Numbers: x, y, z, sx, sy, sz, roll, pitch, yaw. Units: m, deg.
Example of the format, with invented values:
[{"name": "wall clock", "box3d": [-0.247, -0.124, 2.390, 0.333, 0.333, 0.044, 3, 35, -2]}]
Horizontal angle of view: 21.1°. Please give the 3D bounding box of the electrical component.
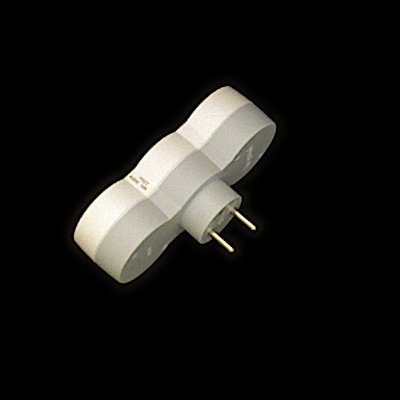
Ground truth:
[{"name": "electrical component", "box3d": [0.000, 0.000, 0.636, 0.073, 0.139, 0.052, 41, -20, 16]}]
